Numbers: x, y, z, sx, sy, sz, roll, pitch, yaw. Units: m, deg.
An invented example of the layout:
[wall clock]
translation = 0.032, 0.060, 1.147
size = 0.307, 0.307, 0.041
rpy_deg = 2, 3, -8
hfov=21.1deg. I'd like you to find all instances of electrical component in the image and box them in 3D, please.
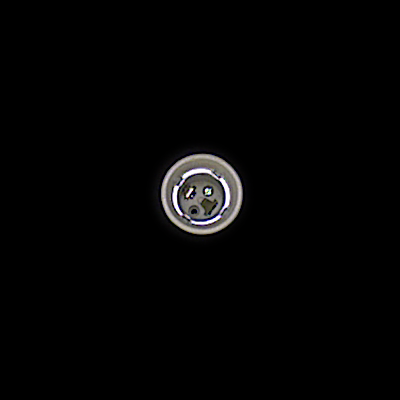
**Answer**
[electrical component]
translation = 0.000, 0.000, 0.625
size = 0.044, 0.044, 0.065
rpy_deg = 0, -7, 0
